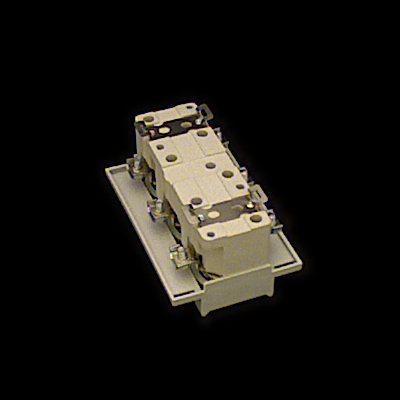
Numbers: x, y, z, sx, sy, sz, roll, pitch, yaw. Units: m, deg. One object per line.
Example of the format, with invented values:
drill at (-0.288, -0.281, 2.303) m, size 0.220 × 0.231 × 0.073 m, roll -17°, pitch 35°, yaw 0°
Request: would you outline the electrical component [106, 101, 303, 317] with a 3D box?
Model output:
electrical component at (0.000, 0.000, 0.636) m, size 0.079 × 0.063 × 0.119 m, roll -15°, pitch 45°, yaw -16°
